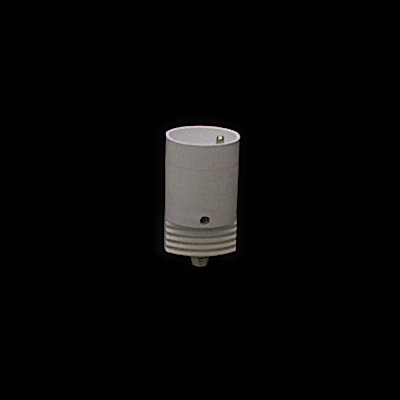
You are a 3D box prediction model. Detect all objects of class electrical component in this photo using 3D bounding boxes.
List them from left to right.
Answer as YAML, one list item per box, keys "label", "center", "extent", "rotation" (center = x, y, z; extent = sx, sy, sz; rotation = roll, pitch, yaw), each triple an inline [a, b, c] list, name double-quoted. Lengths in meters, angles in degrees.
- label: "electrical component"
  center: [0.000, 0.000, 0.637]
  extent: [0.043, 0.082, 0.042]
  rotation: [2, 22, -1]
